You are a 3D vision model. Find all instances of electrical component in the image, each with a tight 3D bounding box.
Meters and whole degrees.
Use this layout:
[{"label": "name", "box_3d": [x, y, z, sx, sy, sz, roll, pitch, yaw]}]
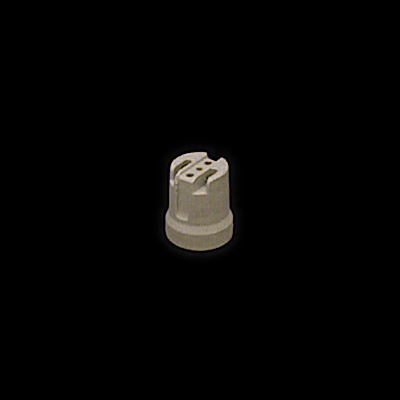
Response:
[{"label": "electrical component", "box_3d": [0.000, 0.000, 0.638, 0.040, 0.046, 0.040, 1, 31, 0]}]
